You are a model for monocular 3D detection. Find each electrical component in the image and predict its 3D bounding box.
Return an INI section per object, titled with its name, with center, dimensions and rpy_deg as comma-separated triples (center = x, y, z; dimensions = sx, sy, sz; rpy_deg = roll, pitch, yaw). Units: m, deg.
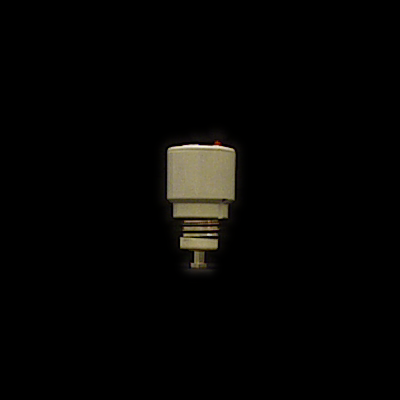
[electrical component]
center = 0.000, 0.000, 0.651
dimensions = 0.040, 0.078, 0.040
rpy_deg = 2, 1, 0
